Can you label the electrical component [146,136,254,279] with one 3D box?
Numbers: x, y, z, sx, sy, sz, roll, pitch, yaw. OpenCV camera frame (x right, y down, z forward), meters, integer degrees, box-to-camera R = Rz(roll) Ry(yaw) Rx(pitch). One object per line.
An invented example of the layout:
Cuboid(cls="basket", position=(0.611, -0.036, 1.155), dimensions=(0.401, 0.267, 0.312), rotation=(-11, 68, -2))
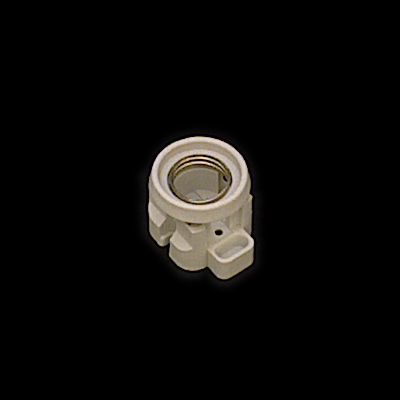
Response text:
Cuboid(cls="electrical component", position=(0.000, 0.000, 0.630), dimensions=(0.058, 0.078, 0.057), rotation=(-31, -31, -22))
